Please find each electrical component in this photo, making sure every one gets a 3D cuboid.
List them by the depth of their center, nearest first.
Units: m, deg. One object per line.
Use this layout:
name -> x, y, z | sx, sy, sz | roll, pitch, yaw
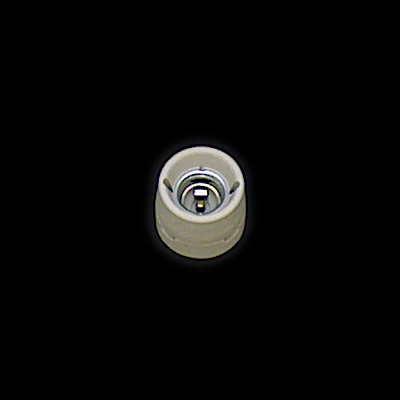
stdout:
electrical component -> 0.000, 0.000, 0.633 | 0.055, 0.056, 0.047 | 0, -27, -1
